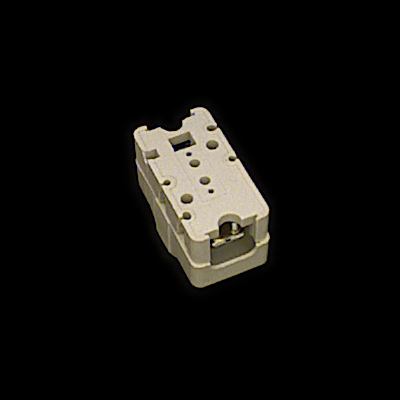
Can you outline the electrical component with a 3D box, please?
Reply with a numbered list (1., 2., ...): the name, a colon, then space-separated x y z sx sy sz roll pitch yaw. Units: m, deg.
1. electrical component: 0.000 0.000 0.637 0.050 0.089 0.056 -21 -34 -14
